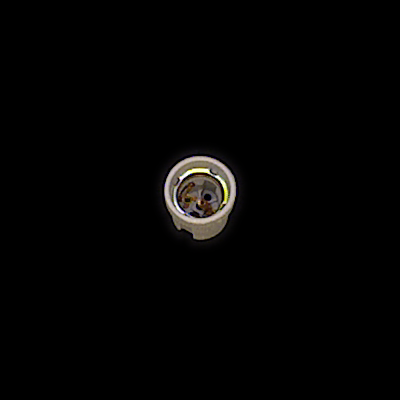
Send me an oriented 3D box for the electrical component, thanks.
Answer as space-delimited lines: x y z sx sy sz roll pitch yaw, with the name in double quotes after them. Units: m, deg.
0.000 0.000 0.627 0.040 0.040 0.046 0 -17 -1 "electrical component"
